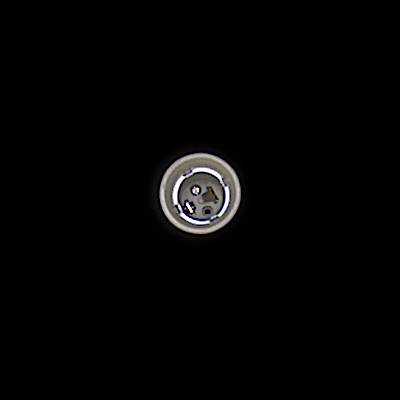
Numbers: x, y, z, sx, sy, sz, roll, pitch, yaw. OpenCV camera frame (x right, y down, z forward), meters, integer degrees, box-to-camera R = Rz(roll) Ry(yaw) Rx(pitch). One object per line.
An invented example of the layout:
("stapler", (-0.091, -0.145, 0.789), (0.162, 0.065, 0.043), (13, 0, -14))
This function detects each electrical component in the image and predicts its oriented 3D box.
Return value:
("electrical component", (0.000, 0.000, 0.625), (0.044, 0.044, 0.065), (0, -7, 2))
